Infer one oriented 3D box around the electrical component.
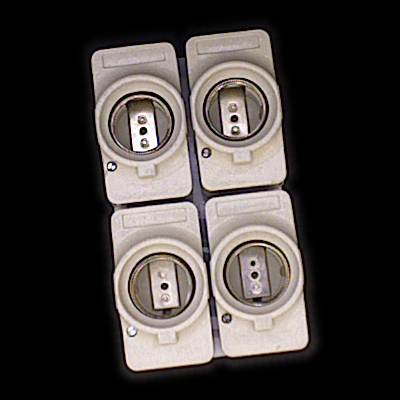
[{"bbox_3d":[0.000,0.000,0.626,0.105,0.187,0.060,-7,-7,-1],"label":"electrical component"}]
